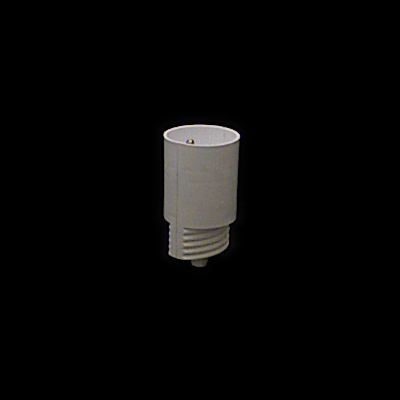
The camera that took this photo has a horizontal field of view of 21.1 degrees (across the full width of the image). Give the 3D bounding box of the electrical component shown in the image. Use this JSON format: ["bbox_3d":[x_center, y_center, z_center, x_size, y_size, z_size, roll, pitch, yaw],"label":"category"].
[{"bbox_3d":[0.000,0.000,0.632,0.043,0.082,0.042,0,21,0],"label":"electrical component"}]
